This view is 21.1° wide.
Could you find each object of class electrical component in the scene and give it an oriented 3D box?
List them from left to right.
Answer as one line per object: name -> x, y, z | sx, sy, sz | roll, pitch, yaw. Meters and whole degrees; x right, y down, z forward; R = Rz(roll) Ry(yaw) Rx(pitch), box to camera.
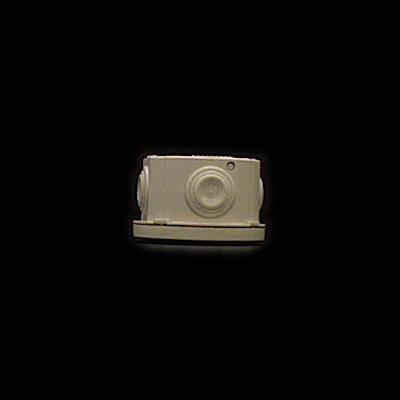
electrical component -> 0.000, 0.000, 0.649 | 0.080, 0.051, 0.080 | 2, 0, 0
